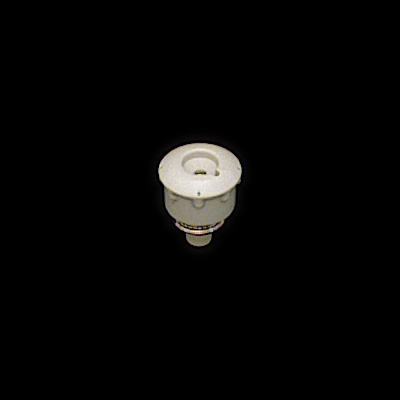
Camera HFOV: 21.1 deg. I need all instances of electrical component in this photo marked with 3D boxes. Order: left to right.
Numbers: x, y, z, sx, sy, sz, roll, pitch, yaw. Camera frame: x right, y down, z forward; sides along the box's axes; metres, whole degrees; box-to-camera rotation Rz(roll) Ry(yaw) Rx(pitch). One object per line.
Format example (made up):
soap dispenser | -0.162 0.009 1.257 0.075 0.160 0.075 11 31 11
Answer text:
electrical component | 0.000 0.000 0.639 0.048 0.062 0.047 1 43 0
